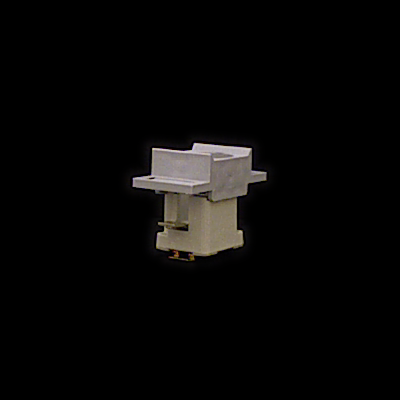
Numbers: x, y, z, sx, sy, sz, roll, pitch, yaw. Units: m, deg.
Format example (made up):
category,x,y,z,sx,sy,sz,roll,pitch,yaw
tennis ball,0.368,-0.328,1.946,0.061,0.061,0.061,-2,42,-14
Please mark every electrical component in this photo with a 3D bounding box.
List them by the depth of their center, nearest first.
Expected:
category,x,y,z,sx,sy,sz,roll,pitch,yaw
electrical component,0.000,0.000,0.641,0.042,0.064,0.081,10,13,34
